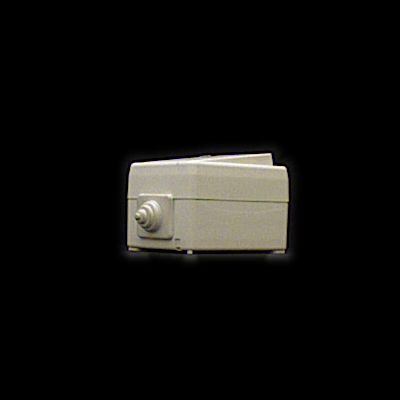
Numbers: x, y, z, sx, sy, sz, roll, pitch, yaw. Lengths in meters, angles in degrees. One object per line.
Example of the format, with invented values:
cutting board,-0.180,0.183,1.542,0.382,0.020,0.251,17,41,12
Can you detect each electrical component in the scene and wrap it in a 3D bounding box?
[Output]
electrical component,0.000,0.000,0.649,0.096,0.061,0.061,1,0,-41
